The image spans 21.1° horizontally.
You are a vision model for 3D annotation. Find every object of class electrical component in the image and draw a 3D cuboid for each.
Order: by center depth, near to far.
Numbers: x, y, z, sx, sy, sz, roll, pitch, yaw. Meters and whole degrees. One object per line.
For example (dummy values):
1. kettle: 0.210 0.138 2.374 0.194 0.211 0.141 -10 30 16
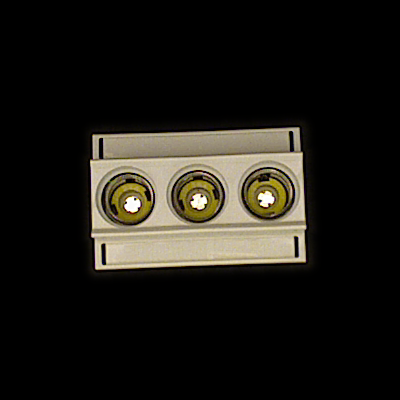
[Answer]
1. electrical component: 0.000 0.000 0.638 0.121 0.079 0.063 -2 -7 0
